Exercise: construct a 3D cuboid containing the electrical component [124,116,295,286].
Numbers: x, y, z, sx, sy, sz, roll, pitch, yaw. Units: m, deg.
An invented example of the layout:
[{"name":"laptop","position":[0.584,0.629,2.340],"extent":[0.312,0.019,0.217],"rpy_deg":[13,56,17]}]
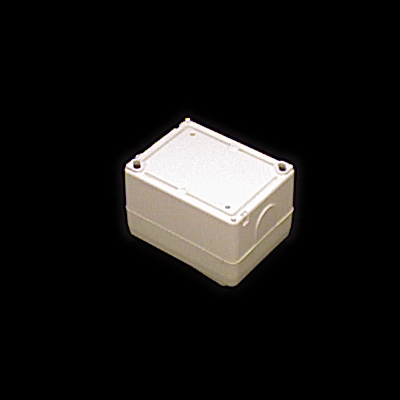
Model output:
[{"name":"electrical component","position":[0.000,0.000,0.634],"extent":[0.096,0.061,0.061],"rpy_deg":[26,48,27]}]
